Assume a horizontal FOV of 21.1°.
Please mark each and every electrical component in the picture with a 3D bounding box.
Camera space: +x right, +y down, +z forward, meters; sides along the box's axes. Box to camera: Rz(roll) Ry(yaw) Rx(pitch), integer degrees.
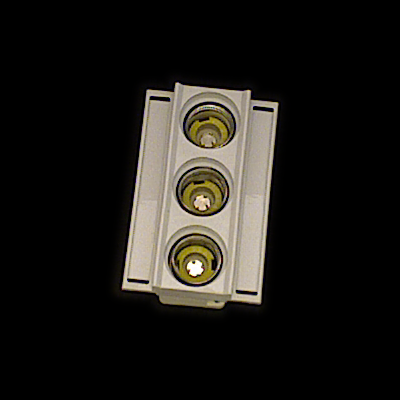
[{"bbox_3d":[0.000,0.000,0.637,0.079,0.121,0.063,6,-16,1],"label":"electrical component"}]
